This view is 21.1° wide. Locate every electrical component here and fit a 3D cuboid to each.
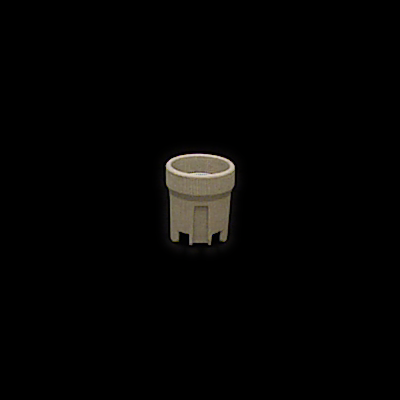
[{"bbox_3d":[0.000,0.000,0.637,0.040,0.047,0.039,1,21,0],"label":"electrical component"}]
